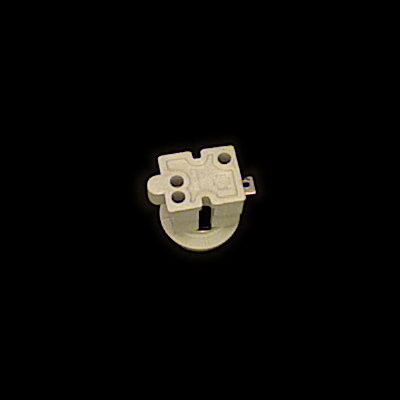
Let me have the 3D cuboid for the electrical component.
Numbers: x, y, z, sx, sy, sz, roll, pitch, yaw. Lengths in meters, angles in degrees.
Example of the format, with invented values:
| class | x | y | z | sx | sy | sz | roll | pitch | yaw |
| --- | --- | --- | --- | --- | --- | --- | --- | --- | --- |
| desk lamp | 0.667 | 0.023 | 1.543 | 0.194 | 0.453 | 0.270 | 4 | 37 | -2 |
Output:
| class | x | y | z | sx | sy | sz | roll | pitch | yaw |
| --- | --- | --- | --- | --- | --- | --- | --- | --- | --- |
| electrical component | 0.000 | 0.000 | 0.637 | 0.067 | 0.048 | 0.055 | -9 | -28 | -5 |
